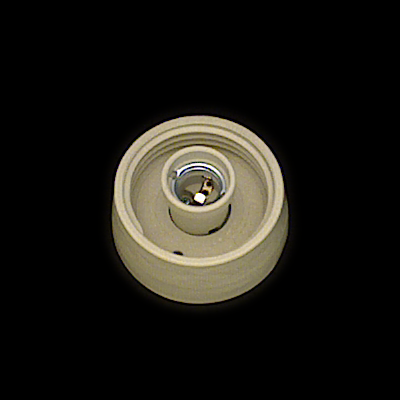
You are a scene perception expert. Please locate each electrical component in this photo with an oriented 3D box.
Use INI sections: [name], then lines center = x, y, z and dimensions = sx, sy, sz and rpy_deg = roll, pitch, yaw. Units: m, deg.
[electrical component]
center = 0.000, 0.000, 0.633
dimensions = 0.108, 0.108, 0.060
rpy_deg = 0, -26, 0
